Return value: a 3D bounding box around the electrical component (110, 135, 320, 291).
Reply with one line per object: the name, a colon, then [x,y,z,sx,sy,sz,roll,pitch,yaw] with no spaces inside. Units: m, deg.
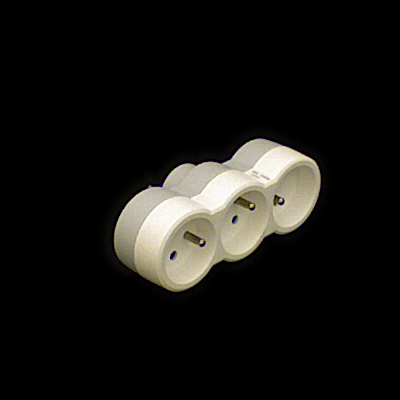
electrical component: [0.000,0.000,0.646,0.139,0.053,0.072,-26,40,-37]
